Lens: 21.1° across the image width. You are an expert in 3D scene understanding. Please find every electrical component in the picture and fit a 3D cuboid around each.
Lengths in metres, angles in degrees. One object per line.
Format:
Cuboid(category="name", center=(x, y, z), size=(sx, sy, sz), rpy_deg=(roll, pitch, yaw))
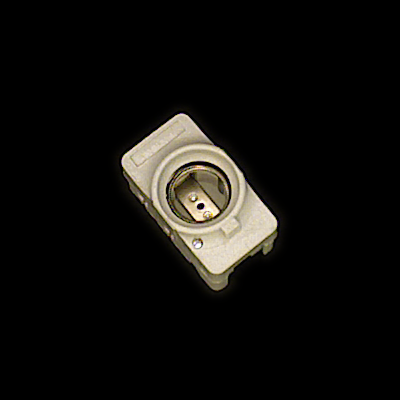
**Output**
Cuboid(category="electrical component", center=(0.000, 0.000, 0.636), size=(0.050, 0.089, 0.055), rpy_deg=(-38, -13, -10))
